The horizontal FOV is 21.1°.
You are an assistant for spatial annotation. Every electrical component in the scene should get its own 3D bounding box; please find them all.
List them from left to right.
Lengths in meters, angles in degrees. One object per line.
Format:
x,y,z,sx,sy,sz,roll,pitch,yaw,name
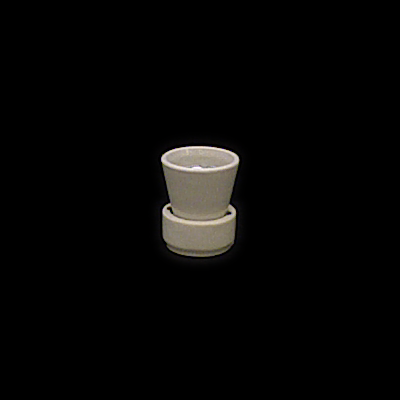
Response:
0.000,0.000,0.638,0.045,0.056,0.044,1,22,0,electrical component
